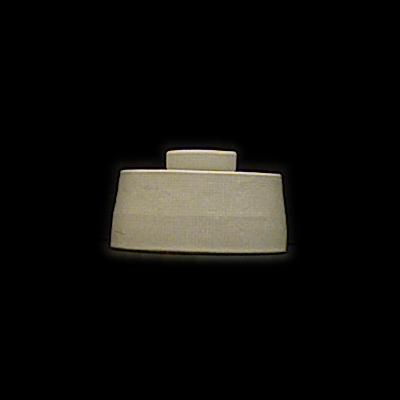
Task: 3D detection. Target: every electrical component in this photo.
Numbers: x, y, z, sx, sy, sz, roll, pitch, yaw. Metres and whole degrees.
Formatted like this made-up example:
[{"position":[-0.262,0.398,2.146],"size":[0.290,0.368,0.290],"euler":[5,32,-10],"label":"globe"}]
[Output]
[{"position":[0.000,0.000,0.657],"size":[0.108,0.060,0.108],"euler":[1,1,0],"label":"electrical component"}]
